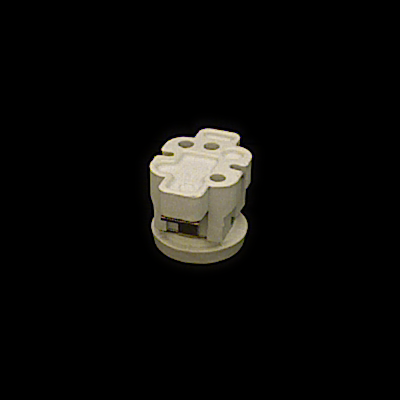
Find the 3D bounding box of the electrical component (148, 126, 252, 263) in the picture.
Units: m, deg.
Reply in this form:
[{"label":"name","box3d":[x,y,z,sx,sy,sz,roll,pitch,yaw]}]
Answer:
[{"label":"electrical component","box3d":[0.000,0.000,0.641,0.057,0.057,0.078,11,35,14]}]
